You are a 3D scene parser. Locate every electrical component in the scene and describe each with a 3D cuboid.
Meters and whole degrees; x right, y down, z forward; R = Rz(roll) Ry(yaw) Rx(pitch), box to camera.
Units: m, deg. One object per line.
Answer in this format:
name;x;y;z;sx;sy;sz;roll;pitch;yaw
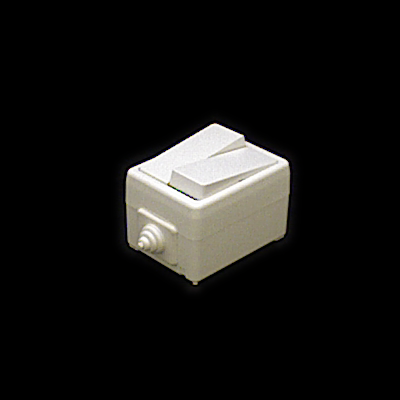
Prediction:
electrical component;0.000;0.000;0.633;0.096;0.061;0.061;-26;40;-37
